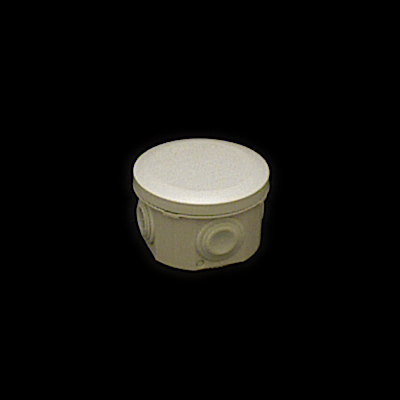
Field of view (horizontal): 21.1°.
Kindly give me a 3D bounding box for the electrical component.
[{"bbox_3d":[0.000,0.000,0.638,0.080,0.051,0.079,1,31,0],"label":"electrical component"}]
